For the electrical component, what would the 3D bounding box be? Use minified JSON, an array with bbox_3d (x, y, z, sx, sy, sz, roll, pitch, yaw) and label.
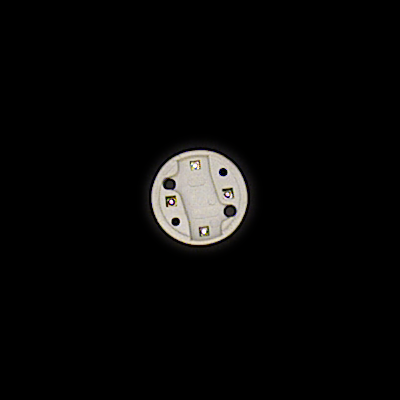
[{"bbox_3d":[0.000,0.000,0.636,0.055,0.055,0.047,0,-7,0],"label":"electrical component"}]
